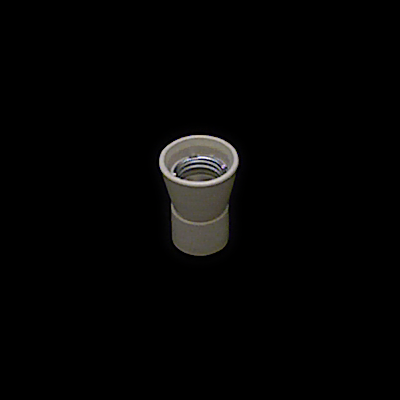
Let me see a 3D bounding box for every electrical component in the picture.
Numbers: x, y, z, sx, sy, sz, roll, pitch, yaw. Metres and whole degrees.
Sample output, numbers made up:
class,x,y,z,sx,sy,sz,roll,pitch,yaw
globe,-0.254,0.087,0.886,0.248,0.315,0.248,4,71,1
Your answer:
class,x,y,z,sx,sy,sz,roll,pitch,yaw
electrical component,0.000,0.000,0.628,0.044,0.066,0.044,0,43,0
